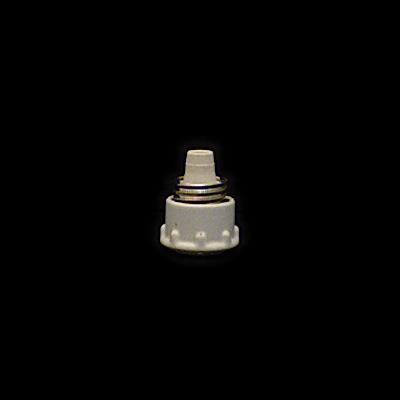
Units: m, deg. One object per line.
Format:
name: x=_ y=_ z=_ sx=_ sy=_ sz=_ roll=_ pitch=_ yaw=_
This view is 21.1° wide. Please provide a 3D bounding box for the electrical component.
electrical component: x=0.000 y=0.000 z=0.649 sx=0.048 sy=0.062 sz=0.048 roll=0 pitch=13 yaw=0
